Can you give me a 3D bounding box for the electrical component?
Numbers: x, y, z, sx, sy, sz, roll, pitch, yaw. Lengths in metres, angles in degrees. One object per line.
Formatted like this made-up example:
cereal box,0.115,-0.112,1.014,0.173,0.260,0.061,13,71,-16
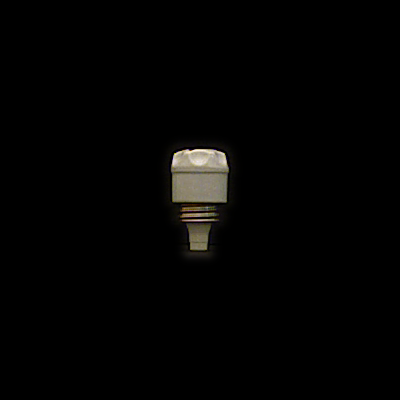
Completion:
electrical component,0.000,0.000,0.656,0.035,0.061,0.035,1,2,1
